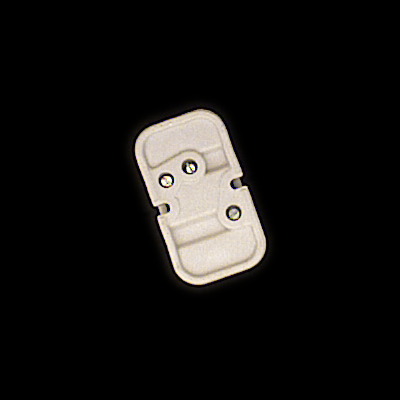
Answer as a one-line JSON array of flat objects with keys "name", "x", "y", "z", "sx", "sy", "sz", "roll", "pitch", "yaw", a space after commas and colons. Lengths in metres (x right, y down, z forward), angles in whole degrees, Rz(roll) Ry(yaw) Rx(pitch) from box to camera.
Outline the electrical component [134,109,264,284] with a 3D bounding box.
[{"name": "electrical component", "x": 0.000, "y": 0.000, "z": 0.636, "sx": 0.054, "sy": 0.095, "sz": 0.059, "roll": -19, "pitch": -5, "yaw": -1}]
